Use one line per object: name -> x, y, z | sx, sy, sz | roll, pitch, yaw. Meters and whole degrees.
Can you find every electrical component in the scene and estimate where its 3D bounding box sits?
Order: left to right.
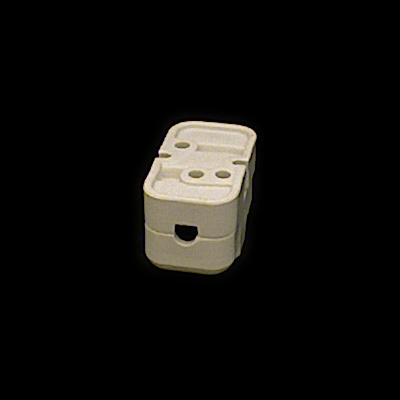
electrical component -> 0.000, 0.000, 0.642 | 0.053, 0.060, 0.094 | 6, 32, 9
